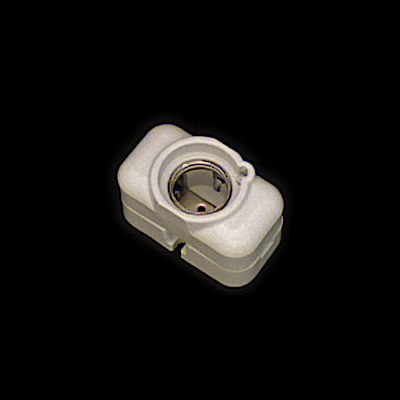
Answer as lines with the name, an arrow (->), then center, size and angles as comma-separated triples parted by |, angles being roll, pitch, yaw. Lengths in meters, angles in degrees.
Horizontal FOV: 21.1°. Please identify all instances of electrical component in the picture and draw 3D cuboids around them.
electrical component -> 0.000, 0.000, 0.634 | 0.095, 0.054, 0.059 | 32, -22, 14
